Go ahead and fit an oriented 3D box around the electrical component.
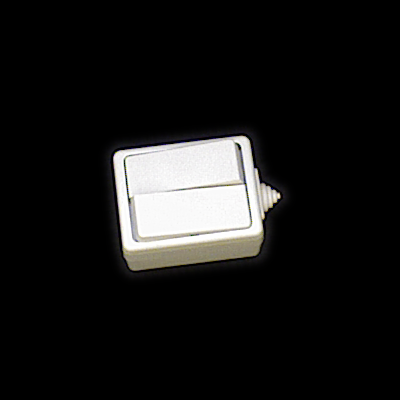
[{"bbox_3d":[0.000,0.000,0.626,0.096,0.062,0.060,-7,-17,-2],"label":"electrical component"}]
